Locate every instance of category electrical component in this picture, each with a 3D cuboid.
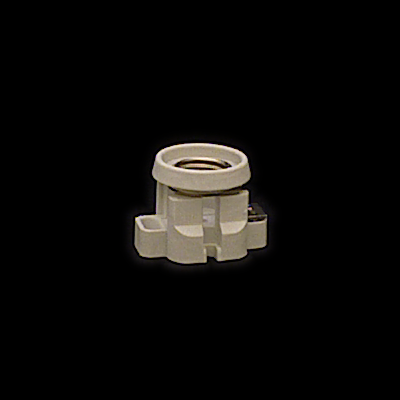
[{"bbox_3d":[0.000,0.000,0.641,0.078,0.057,0.057,-4,22,-14],"label":"electrical component"}]
